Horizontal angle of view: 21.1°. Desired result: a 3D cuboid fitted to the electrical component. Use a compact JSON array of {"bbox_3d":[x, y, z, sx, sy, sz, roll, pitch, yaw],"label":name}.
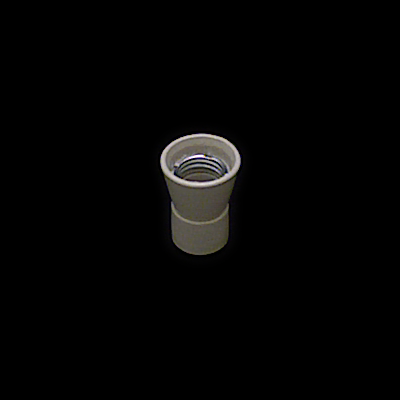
[{"bbox_3d":[0.000,0.000,0.627,0.044,0.066,0.044,1,43,0],"label":"electrical component"}]
